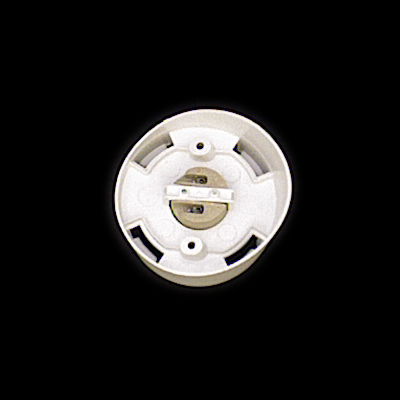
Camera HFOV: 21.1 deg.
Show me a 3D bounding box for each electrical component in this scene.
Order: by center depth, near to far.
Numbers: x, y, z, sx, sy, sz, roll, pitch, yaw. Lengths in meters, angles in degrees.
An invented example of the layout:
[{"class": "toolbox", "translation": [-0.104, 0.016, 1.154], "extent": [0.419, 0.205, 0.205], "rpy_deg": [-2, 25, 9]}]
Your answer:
[{"class": "electrical component", "translation": [0.000, 0.000, 0.624], "extent": [0.099, 0.099, 0.064], "rpy_deg": [0, -17, -1]}]
